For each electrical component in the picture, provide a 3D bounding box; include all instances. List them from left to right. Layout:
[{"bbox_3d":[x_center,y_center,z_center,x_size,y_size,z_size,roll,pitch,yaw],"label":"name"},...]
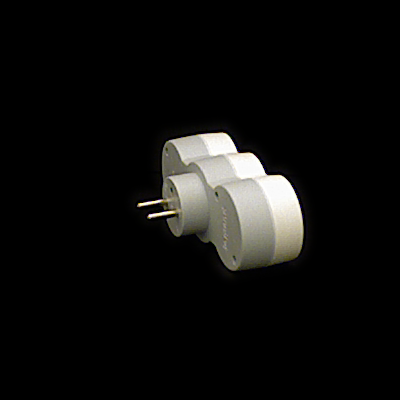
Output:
[{"bbox_3d":[0.000,0.000,0.647,0.074,0.053,0.135,-9,24,-20],"label":"electrical component"}]
